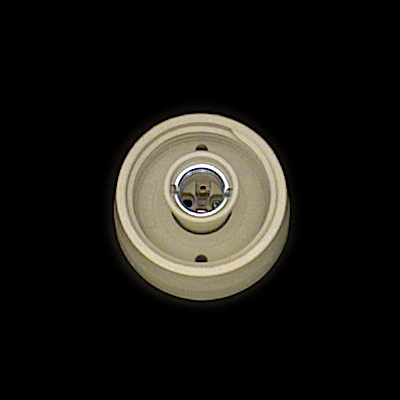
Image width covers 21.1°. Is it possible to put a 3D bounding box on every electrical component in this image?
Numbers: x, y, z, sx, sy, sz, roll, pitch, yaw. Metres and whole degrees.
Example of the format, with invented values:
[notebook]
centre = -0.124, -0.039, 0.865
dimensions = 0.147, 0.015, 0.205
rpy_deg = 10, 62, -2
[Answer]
[electrical component]
centre = 0.000, 0.000, 0.634
dimensions = 0.108, 0.108, 0.060
rpy_deg = 0, -16, 0
